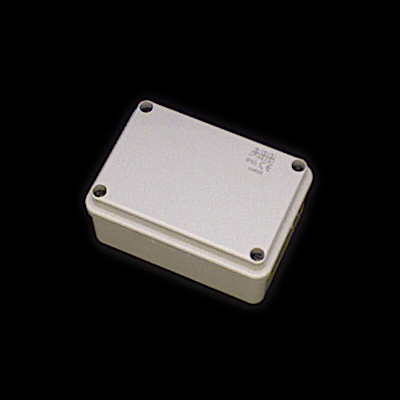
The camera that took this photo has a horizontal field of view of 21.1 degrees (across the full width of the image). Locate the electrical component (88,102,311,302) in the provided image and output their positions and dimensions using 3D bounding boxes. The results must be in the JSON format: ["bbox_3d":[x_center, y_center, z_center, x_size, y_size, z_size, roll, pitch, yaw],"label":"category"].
[{"bbox_3d":[0.000,0.000,0.628,0.113,0.078,0.057,22,-25,10],"label":"electrical component"}]
